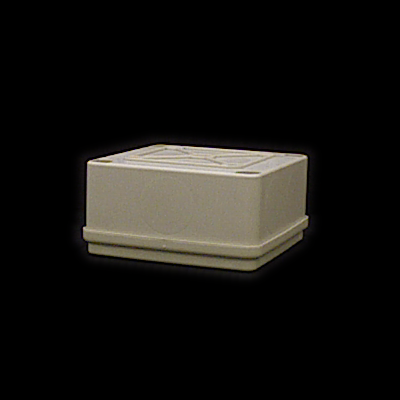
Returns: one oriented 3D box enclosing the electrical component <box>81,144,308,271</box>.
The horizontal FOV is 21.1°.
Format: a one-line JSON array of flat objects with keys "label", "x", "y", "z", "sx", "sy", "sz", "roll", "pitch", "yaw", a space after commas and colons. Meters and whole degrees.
[{"label": "electrical component", "x": 0.000, "y": 0.000, "z": 0.647, "sx": 0.108, "sy": 0.056, "sz": 0.108, "roll": 6, "pitch": 11, "yaw": 20}]
